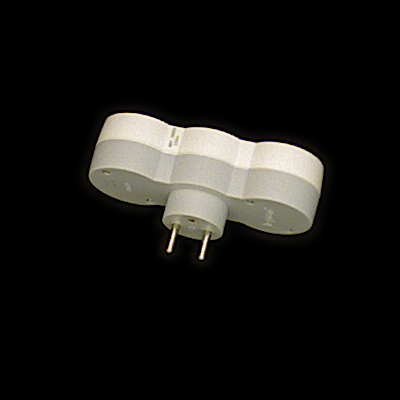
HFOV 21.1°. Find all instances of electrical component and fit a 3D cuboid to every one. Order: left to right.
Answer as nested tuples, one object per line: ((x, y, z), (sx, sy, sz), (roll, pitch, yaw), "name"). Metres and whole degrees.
((0.000, 0.000, 0.636), (0.138, 0.074, 0.052), (12, -25, 5), "electrical component")
